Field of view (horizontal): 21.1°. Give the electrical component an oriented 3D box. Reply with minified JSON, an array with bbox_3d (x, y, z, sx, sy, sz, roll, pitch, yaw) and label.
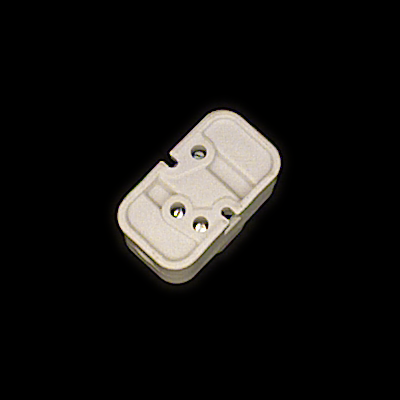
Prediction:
[{"bbox_3d":[0.000,0.000,0.635,0.053,0.095,0.059,42,-12,11],"label":"electrical component"}]
